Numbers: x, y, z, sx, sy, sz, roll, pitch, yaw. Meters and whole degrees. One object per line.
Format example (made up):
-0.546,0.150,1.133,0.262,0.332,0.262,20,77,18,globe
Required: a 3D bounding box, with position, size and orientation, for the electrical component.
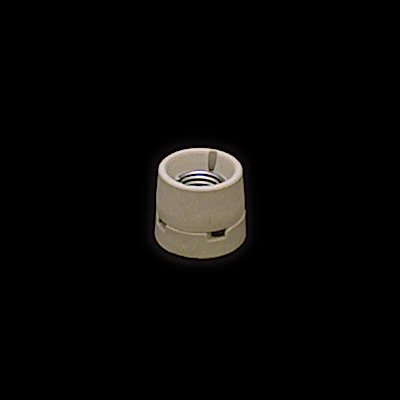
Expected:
0.000,0.000,0.636,0.055,0.047,0.055,0,32,0,electrical component
